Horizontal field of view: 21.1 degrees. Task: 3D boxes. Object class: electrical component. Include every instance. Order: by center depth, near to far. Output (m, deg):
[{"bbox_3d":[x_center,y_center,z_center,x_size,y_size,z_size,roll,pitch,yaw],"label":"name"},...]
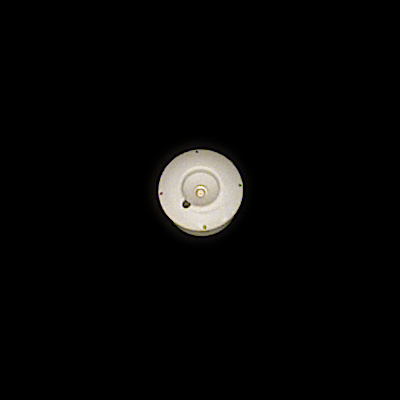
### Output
[{"bbox_3d":[0.000,0.000,0.633,0.048,0.048,0.061,0,-16,1],"label":"electrical component"}]
